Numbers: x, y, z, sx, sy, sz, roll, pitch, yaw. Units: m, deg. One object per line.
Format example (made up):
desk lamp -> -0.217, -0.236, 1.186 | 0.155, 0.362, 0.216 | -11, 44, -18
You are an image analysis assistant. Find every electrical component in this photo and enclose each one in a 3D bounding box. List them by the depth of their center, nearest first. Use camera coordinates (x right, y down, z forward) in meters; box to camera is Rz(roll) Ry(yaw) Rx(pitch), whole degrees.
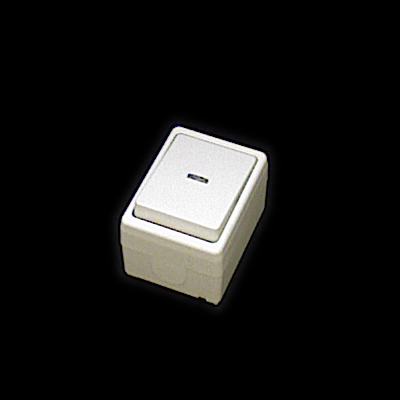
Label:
electrical component -> 0.000, 0.000, 0.629 | 0.061, 0.096, 0.061 | 18, -36, 13
